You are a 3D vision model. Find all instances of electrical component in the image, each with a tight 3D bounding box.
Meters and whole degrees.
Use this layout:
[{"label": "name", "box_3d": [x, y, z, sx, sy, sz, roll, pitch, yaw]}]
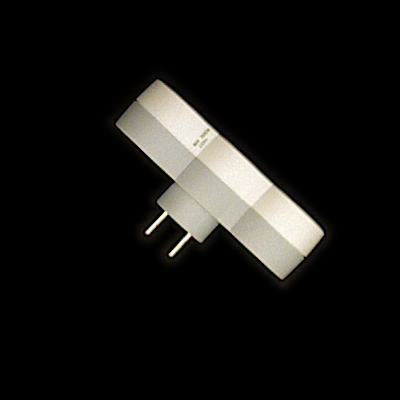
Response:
[{"label": "electrical component", "box_3d": [0.000, 0.000, 0.639, 0.138, 0.074, 0.052, 43, -2, 4]}]
